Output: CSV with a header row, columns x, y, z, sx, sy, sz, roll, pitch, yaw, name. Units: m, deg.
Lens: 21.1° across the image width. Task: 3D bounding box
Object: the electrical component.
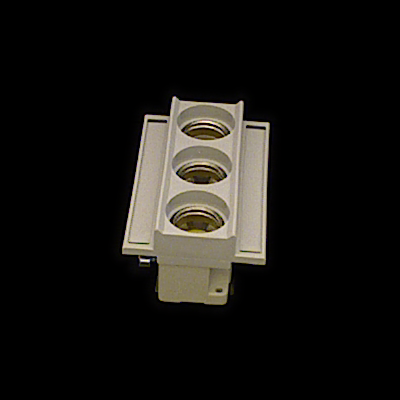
x,y,z,sx,sy,sz,roll,pitch,yaw,name
0.000,0.000,0.643,0.079,0.064,0.120,4,43,2,electrical component
